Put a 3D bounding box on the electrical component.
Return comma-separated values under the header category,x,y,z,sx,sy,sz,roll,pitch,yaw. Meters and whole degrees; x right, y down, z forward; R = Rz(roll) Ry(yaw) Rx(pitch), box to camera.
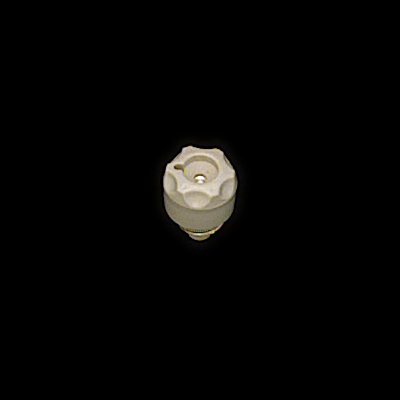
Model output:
category,x,y,z,sx,sy,sz,roll,pitch,yaw
electrical component,0.000,0.000,0.636,0.043,0.043,0.062,0,-37,-1
